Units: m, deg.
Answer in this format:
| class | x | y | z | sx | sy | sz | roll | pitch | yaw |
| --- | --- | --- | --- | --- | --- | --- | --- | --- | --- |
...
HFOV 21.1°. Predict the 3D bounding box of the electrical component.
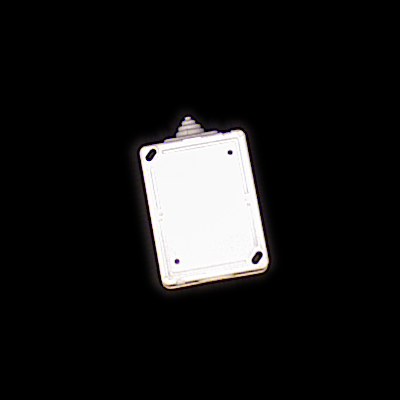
| class | x | y | z | sx | sy | sz | roll | pitch | yaw |
| --- | --- | --- | --- | --- | --- | --- | --- | --- | --- |
| electrical component | 0.000 | 0.000 | 0.629 | 0.062 | 0.096 | 0.061 | -10 | -8 | -1 |
